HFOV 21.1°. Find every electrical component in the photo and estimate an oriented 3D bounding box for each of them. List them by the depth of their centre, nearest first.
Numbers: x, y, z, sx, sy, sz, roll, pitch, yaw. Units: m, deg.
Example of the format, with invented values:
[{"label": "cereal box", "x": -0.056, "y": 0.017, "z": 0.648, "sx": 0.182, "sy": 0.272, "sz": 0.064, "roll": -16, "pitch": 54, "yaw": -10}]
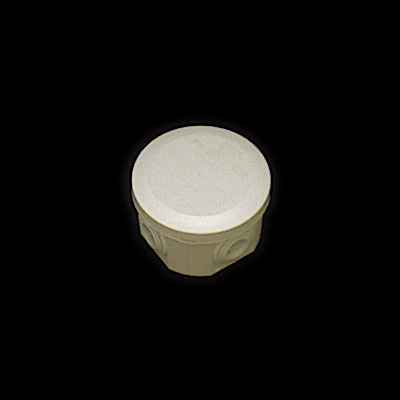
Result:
[{"label": "electrical component", "x": 0.000, "y": 0.000, "z": 0.630, "sx": 0.080, "sy": 0.080, "sz": 0.051, "roll": 0, "pitch": -38, "yaw": 0}]
